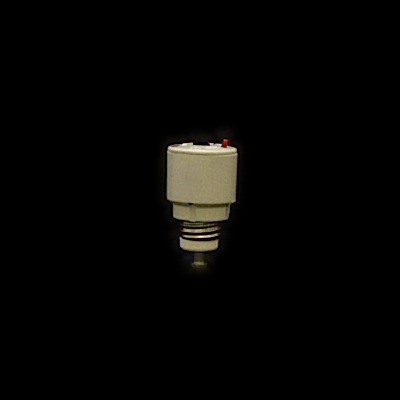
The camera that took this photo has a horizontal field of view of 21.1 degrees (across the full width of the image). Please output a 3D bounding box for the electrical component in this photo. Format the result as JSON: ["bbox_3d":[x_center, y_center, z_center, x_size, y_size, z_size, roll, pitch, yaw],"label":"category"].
[{"bbox_3d":[0.000,0.000,0.641,0.040,0.079,0.040,2,11,0],"label":"electrical component"}]
